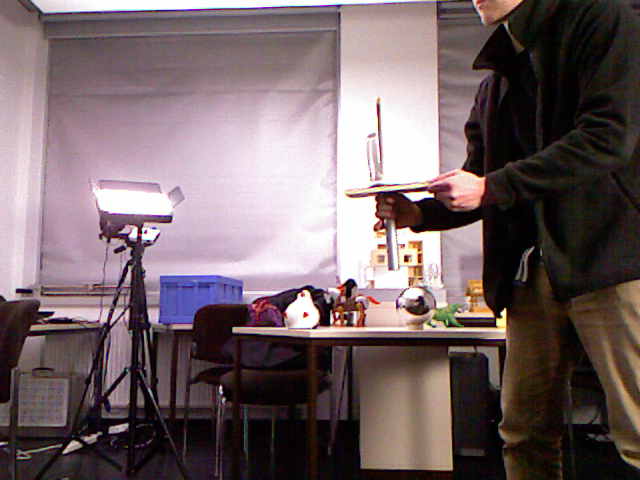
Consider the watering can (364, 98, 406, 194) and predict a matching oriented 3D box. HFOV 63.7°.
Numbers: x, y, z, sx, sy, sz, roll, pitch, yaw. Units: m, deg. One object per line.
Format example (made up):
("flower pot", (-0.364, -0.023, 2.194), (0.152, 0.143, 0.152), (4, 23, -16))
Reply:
("watering can", (0.157, -0.225, 1.277), (0.104, 0.224, 0.349), (-4, 2, 10))
